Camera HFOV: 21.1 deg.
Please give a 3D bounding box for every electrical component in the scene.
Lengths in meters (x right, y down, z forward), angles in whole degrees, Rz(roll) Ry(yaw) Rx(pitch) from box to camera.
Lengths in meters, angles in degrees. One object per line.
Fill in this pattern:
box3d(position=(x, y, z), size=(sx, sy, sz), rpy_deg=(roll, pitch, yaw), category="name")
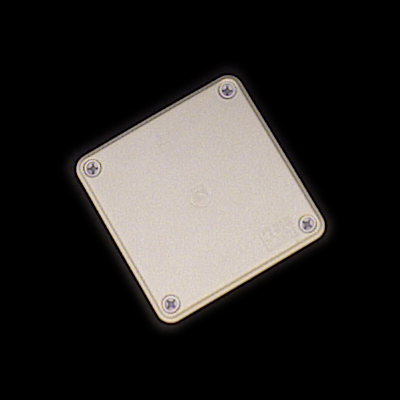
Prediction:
box3d(position=(0.000, 0.000, 0.631), size=(0.109, 0.109, 0.056), rpy_deg=(-30, -6, -3), category="electrical component")
